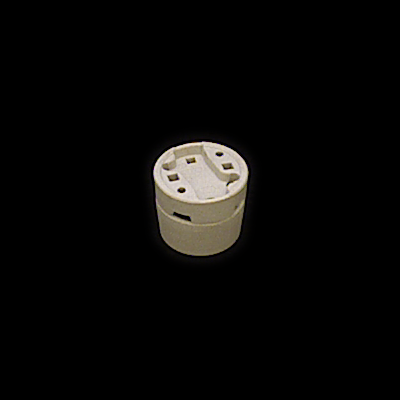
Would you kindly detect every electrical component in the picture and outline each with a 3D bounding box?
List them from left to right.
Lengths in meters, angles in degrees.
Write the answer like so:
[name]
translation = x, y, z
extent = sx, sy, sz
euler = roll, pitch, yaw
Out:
[electrical component]
translation = 0.000, 0.000, 0.636
extent = 0.055, 0.047, 0.055
euler = 1, 42, 0
